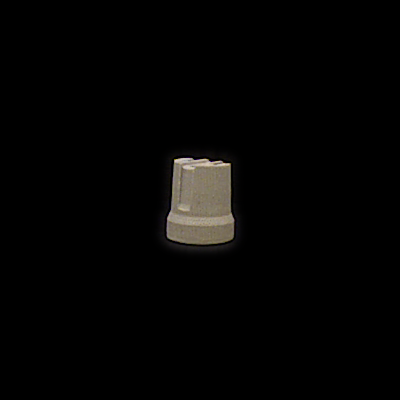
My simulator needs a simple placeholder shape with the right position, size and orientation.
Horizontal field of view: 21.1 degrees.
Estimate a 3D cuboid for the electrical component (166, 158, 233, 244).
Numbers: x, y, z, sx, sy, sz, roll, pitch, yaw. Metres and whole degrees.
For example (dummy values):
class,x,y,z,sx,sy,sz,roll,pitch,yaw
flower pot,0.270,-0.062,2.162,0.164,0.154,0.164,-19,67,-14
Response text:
class,x,y,z,sx,sy,sz,roll,pitch,yaw
electrical component,0.000,0.000,0.646,0.040,0.046,0.040,1,12,0
